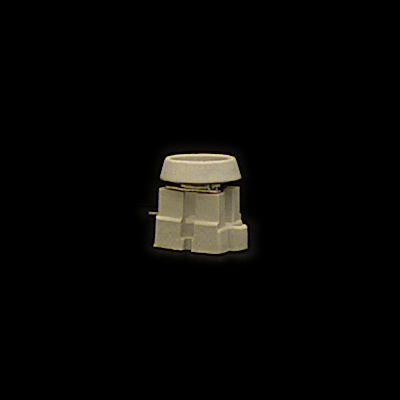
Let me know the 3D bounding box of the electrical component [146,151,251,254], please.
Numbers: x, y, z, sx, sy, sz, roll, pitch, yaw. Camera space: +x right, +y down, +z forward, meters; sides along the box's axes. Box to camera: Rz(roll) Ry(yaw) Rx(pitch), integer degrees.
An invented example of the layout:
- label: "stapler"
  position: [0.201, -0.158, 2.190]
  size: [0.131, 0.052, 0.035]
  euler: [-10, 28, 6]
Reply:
- label: "electrical component"
  position: [0.000, 0.000, 0.651]
  size: [0.066, 0.056, 0.048]
  euler: [6, 11, 22]
